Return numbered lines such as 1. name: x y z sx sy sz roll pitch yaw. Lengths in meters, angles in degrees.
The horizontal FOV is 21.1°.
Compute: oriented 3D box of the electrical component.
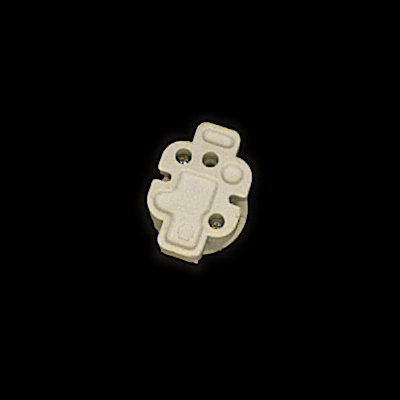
1. electrical component: 0.000 0.000 0.635 0.058 0.079 0.056 17 -14 4
